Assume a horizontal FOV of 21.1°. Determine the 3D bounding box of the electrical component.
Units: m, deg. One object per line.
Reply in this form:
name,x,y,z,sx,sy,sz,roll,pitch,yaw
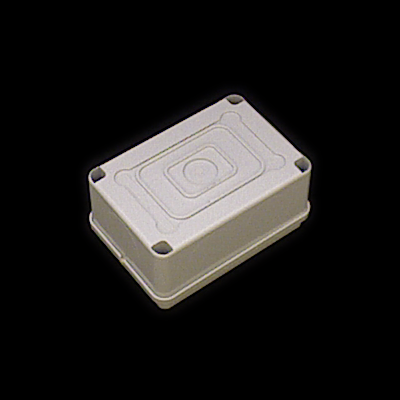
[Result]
electrical component,0.000,0.000,0.629,0.113,0.078,0.057,-31,-31,-22
